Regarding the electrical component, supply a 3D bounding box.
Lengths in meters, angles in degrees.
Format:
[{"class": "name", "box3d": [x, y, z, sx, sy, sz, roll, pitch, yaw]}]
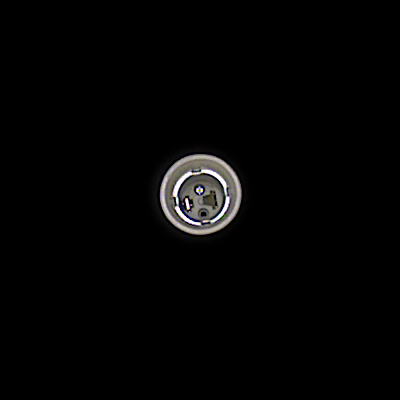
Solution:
[{"class": "electrical component", "box3d": [0.000, 0.000, 0.625, 0.044, 0.044, 0.065, 0, -7, 1]}]
